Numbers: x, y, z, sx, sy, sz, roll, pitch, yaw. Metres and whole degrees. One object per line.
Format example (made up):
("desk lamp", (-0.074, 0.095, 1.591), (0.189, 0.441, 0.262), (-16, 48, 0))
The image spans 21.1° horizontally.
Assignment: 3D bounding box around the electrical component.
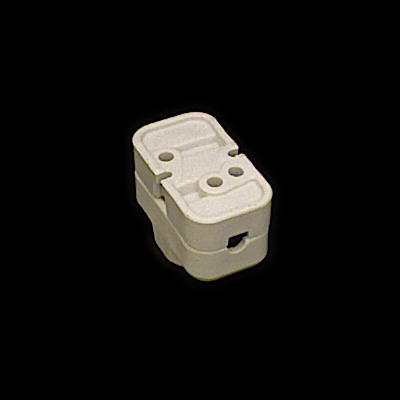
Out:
("electrical component", (0.000, 0.000, 0.640), (0.054, 0.060, 0.094), (-19, 46, -20))
